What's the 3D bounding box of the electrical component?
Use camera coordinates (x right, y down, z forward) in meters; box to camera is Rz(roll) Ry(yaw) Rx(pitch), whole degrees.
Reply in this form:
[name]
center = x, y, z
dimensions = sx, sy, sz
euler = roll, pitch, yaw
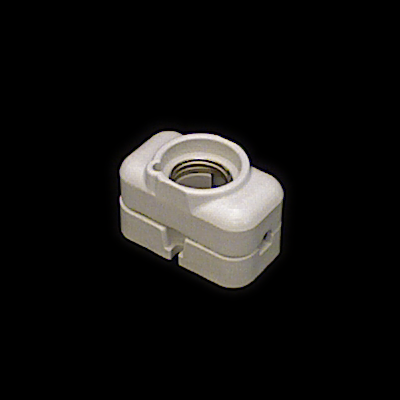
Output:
[electrical component]
center = 0.000, 0.000, 0.637
dimensions = 0.094, 0.060, 0.054
euler = 25, 48, 25
